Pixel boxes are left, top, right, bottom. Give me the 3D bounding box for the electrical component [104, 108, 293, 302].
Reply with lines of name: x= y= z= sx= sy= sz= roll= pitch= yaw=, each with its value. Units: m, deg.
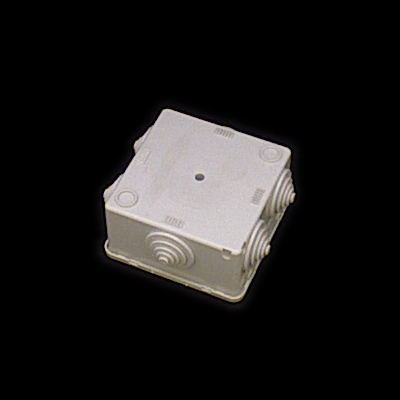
electrical component: x=0.000 y=0.000 z=0.632 sx=0.099 sy=0.099 sz=0.049 roll=19 pitch=-35 yaw=14
